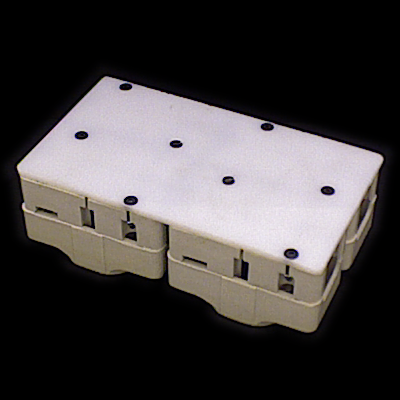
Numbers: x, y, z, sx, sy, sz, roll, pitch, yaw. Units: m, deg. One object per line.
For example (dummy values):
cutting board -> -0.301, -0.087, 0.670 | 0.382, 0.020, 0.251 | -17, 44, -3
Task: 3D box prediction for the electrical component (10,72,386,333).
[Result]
electrical component -> 0.000, 0.000, 0.630 | 0.185, 0.061, 0.105 | 18, 45, 18
